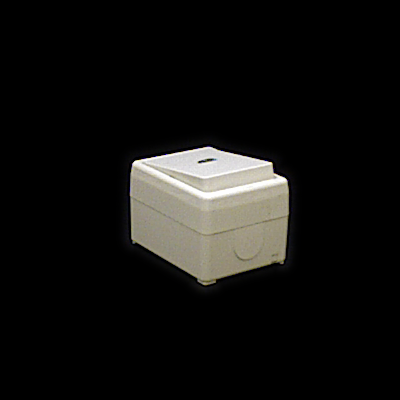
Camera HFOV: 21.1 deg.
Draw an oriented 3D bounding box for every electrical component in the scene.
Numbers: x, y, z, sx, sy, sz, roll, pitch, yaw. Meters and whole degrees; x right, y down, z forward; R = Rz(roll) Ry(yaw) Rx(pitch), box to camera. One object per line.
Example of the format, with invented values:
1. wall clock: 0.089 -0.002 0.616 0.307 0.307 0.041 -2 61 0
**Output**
1. electrical component: 0.000 0.000 0.641 0.061 0.061 0.095 -13 25 -33
